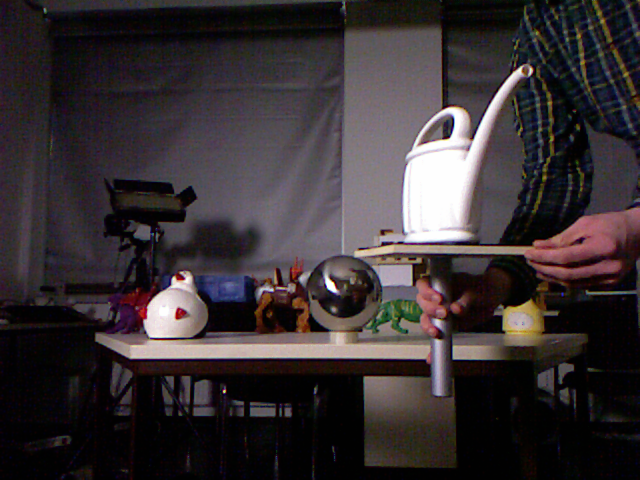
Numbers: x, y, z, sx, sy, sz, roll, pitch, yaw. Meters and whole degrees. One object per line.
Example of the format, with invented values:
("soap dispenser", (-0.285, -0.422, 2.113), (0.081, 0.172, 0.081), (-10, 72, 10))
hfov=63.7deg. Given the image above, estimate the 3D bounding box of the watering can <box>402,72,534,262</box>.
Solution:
("watering can", (0.182, -0.082, 0.707), (0.104, 0.225, 0.347), (-1, -2, -11))
